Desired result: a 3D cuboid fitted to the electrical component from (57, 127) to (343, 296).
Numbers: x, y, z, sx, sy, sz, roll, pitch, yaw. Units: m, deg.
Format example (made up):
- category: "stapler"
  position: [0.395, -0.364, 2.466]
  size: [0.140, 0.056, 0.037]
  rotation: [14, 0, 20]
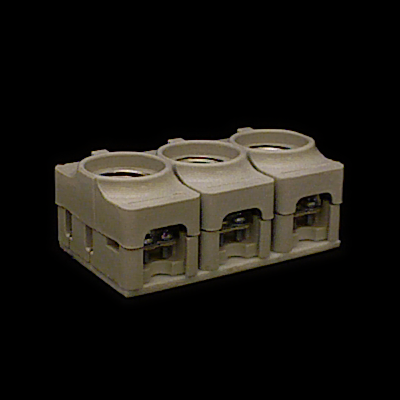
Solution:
- category: "electrical component"
  position: [0.000, 0.000, 0.646]
  size: [0.150, 0.063, 0.088]
  rotation: [-11, 23, -31]
